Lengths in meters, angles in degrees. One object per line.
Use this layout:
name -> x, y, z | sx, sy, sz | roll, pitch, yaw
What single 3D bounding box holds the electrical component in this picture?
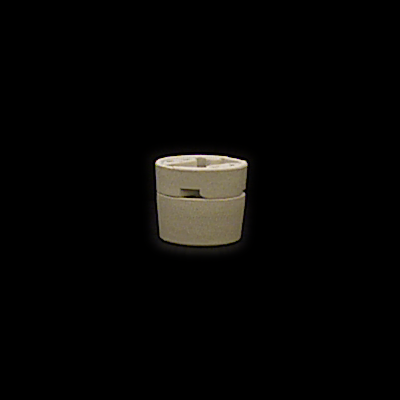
electrical component -> 0.000, 0.000, 0.644 | 0.055, 0.047, 0.055 | 1, 10, 0
